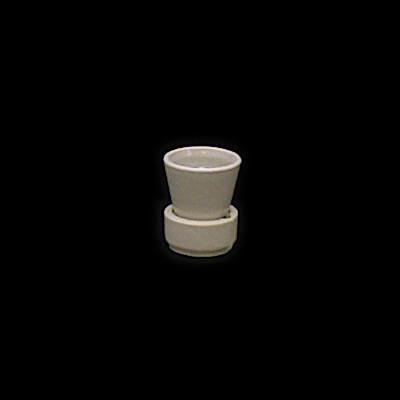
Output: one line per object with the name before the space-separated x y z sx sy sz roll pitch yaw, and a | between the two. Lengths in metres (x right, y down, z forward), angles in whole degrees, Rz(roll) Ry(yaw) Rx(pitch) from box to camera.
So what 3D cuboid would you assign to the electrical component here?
electrical component | 0.000 0.000 0.641 0.045 0.056 0.044 2 21 0
